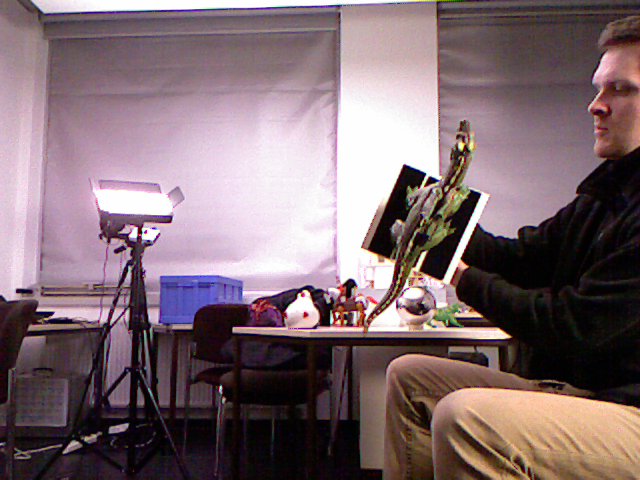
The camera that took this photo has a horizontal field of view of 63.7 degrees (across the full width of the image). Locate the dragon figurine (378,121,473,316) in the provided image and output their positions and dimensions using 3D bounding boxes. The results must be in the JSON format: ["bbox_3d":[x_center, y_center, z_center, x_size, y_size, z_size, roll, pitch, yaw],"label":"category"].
[{"bbox_3d":[0.192,-0.022,0.974,0.123,0.411,0.244,22,4,11],"label":"dragon figurine"}]
